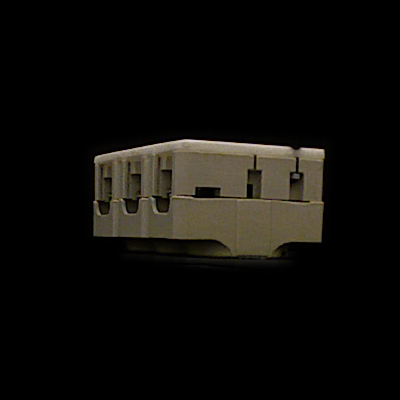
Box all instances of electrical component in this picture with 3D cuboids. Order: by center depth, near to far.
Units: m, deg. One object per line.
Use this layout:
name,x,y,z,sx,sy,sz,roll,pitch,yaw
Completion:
electrical component,0.000,0.000,0.655,0.089,0.062,0.150,1,0,-23
